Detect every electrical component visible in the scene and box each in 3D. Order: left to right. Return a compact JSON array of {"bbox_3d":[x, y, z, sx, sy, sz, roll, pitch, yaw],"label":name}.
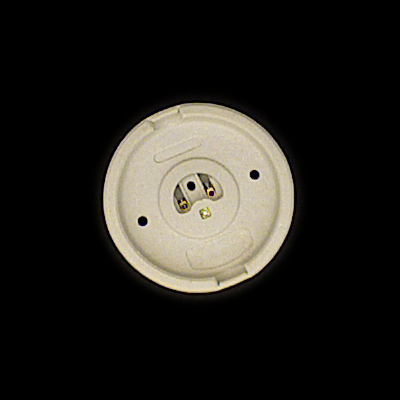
[{"bbox_3d":[0.000,0.000,0.634,0.108,0.108,0.060,0,-6,0],"label":"electrical component"}]
